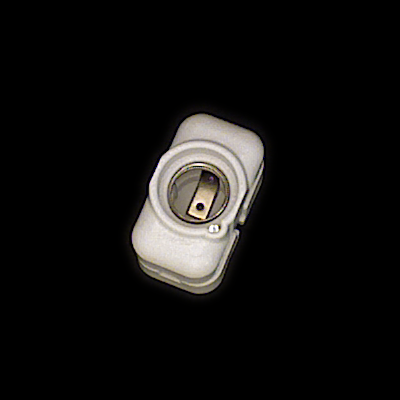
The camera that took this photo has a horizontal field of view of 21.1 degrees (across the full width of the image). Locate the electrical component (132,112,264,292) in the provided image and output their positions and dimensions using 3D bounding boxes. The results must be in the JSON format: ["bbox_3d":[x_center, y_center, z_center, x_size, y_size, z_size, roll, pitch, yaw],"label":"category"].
[{"bbox_3d":[0.000,0.000,0.633,0.053,0.095,0.059,21,-14,6],"label":"electrical component"}]
